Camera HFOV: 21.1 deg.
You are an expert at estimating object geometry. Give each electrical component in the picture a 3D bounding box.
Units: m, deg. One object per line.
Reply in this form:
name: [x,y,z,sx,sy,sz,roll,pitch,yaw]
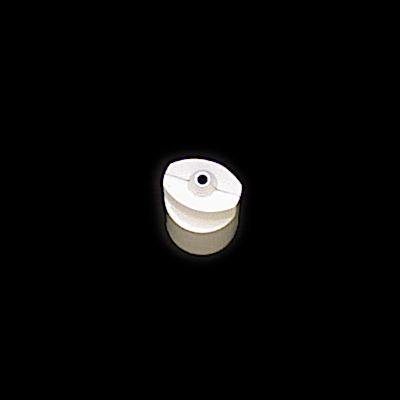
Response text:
electrical component: [0.000,0.000,0.616,0.043,0.043,0.080,0,-17,0]
